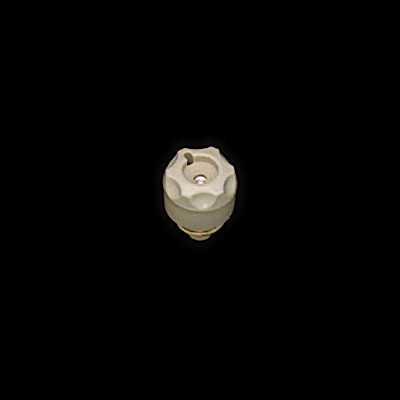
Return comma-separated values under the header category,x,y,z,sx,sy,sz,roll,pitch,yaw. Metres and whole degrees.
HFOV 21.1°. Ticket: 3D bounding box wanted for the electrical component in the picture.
category,x,y,z,sx,sy,sz,roll,pitch,yaw
electrical component,0.000,0.000,0.635,0.043,0.043,0.062,0,-37,-1
